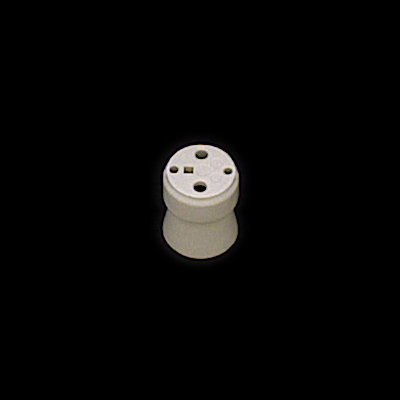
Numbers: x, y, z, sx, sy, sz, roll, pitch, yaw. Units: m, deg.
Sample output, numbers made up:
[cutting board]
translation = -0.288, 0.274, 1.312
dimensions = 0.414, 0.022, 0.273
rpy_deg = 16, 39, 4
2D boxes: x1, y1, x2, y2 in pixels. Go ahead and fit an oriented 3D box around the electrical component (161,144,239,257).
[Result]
[electrical component]
translation = 0.000, 0.000, 0.631
dimensions = 0.045, 0.044, 0.055
rpy_deg = 0, -38, -1
